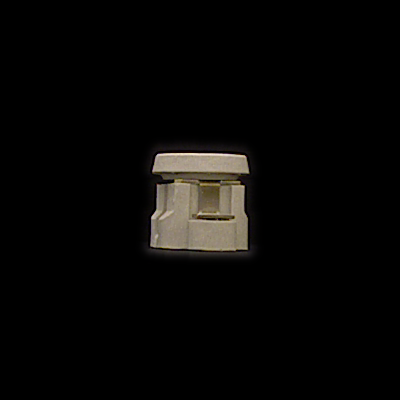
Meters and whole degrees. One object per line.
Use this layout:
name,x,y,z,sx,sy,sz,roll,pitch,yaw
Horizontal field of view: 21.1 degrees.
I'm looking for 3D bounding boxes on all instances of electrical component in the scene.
electrical component,0.000,0.000,0.648,0.058,0.057,0.078,1,0,-15
